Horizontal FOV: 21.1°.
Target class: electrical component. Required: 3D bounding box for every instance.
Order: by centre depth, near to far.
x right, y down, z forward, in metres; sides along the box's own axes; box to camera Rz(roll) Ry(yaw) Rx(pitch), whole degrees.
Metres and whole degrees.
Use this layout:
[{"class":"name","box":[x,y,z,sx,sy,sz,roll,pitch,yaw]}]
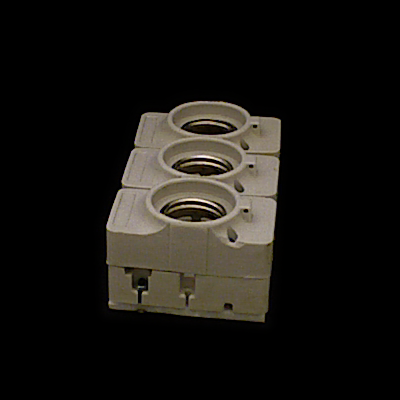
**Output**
[{"class":"electrical component","box":[0.000,0.000,0.641,0.089,0.063,0.146,4,32,4]}]
